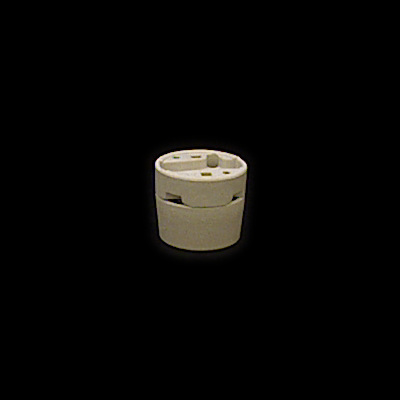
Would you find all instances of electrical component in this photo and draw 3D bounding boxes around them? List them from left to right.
[{"bbox_3d":[0.000,0.000,0.643,0.055,0.047,0.055,1,22,0],"label":"electrical component"}]
